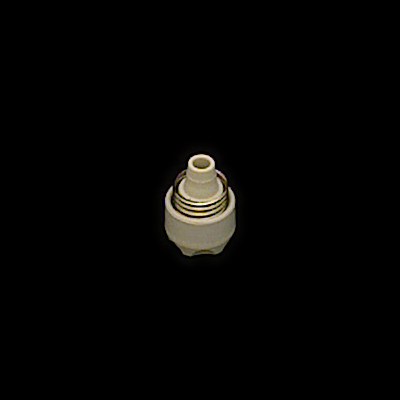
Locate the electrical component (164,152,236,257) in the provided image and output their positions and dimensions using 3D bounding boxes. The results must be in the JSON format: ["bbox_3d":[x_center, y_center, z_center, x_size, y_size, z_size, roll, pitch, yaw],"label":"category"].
[{"bbox_3d":[0.000,0.000,0.637,0.043,0.062,0.043,1,44,0],"label":"electrical component"}]
